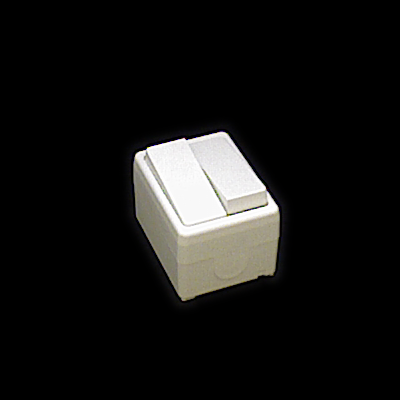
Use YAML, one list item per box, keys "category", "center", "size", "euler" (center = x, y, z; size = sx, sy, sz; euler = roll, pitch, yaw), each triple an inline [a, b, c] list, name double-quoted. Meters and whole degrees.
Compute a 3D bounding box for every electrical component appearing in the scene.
- category: "electrical component"
  center: [0.000, 0.000, 0.632]
  size: [0.062, 0.061, 0.095]
  euler: [-15, 44, -17]
